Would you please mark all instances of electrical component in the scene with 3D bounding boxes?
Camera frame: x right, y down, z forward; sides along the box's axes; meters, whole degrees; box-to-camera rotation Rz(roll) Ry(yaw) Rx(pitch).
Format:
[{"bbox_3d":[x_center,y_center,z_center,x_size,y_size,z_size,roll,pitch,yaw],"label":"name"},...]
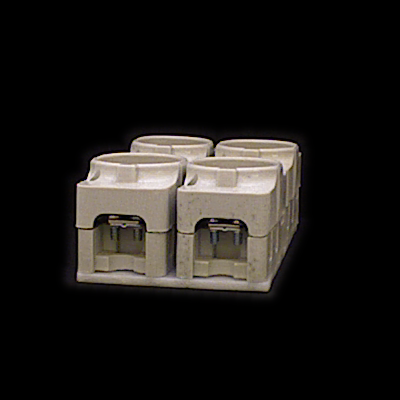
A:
[{"bbox_3d":[0.000,0.000,0.644,0.105,0.061,0.185,3,10,10],"label":"electrical component"}]
